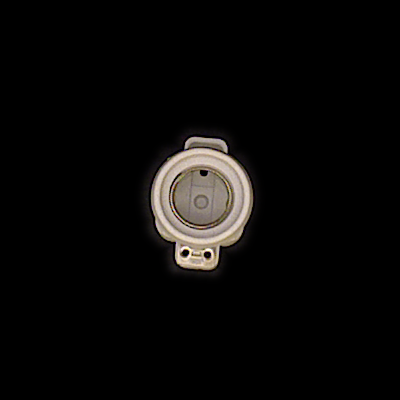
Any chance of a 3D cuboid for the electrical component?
[{"bbox_3d":[0.000,0.000,0.629,0.058,0.079,0.056,5,-6,1],"label":"electrical component"}]
